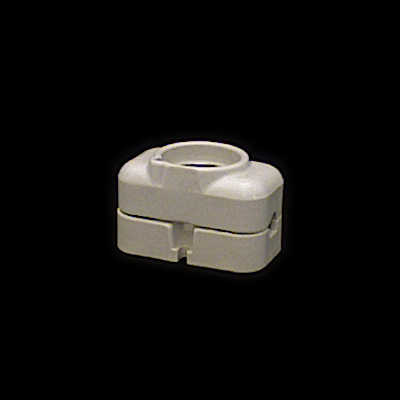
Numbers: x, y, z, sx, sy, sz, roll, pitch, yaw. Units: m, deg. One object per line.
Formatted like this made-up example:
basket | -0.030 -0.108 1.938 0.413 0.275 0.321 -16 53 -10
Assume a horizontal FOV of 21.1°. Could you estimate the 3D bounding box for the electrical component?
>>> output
electrical component | 0.000 0.000 0.644 0.094 0.060 0.053 9 23 20
